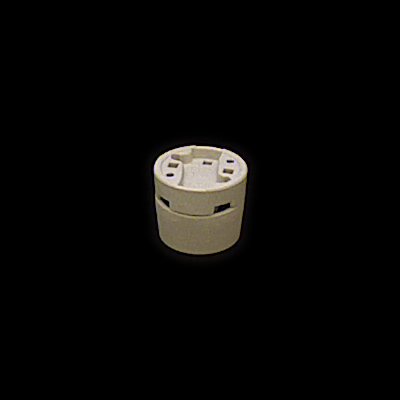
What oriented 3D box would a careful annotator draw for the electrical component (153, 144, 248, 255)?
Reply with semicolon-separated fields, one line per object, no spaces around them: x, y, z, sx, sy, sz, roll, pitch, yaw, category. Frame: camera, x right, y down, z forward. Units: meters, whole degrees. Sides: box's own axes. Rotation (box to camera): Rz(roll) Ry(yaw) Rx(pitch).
0.000;0.000;0.639;0.055;0.047;0.055;1;32;0;electrical component
